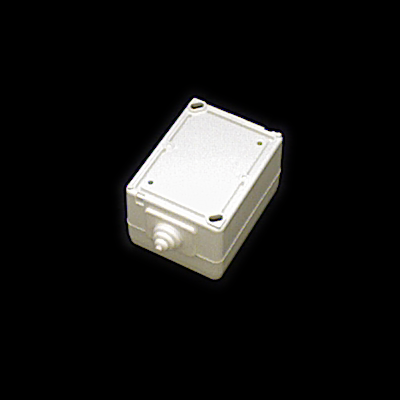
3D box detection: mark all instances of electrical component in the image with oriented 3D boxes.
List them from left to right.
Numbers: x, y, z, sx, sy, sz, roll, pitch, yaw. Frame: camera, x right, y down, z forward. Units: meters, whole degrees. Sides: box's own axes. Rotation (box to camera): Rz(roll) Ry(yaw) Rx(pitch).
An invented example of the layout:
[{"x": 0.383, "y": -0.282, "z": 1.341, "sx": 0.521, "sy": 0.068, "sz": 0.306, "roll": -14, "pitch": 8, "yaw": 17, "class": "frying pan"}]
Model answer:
[{"x": 0.000, "y": 0.000, "z": 0.623, "sx": 0.061, "sy": 0.096, "sz": 0.061, "roll": 23, "pitch": -35, "yaw": 16, "class": "electrical component"}]
